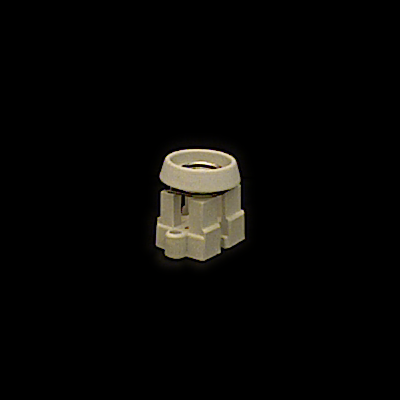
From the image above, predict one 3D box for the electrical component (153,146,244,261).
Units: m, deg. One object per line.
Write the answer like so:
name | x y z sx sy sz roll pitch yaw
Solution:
electrical component | 0.000 0.000 0.648 0.048 0.056 0.066 18 27 31
